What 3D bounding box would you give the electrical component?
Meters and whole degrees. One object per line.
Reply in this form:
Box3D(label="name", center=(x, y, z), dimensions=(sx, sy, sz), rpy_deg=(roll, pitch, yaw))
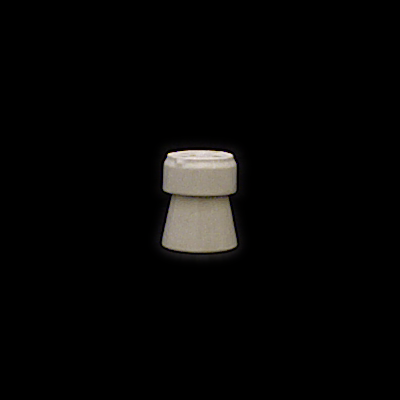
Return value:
Box3D(label="electrical component", center=(0.000, 0.000, 0.645), dimensions=(0.045, 0.055, 0.044), rpy_deg=(1, 11, 0))
